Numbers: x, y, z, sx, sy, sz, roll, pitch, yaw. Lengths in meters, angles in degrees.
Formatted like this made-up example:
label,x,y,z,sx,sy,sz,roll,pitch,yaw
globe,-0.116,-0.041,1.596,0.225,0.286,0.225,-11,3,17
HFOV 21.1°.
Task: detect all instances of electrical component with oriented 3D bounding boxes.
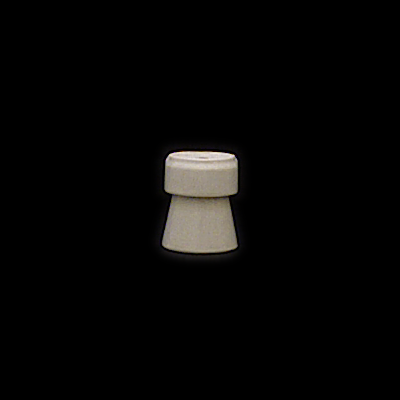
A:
label,x,y,z,sx,sy,sz,roll,pitch,yaw
electrical component,0.000,0.000,0.646,0.045,0.055,0.044,2,11,0
